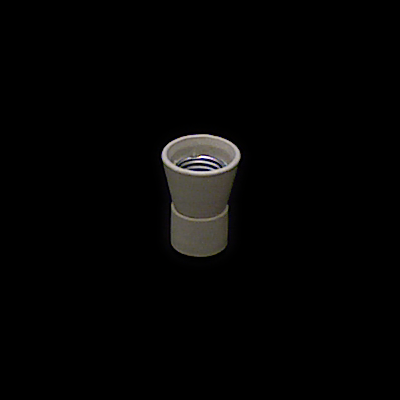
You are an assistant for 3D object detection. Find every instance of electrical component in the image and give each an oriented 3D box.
[{"bbox_3d":[0.000,0.000,0.631,0.044,0.066,0.044,1,32,-1],"label":"electrical component"}]
